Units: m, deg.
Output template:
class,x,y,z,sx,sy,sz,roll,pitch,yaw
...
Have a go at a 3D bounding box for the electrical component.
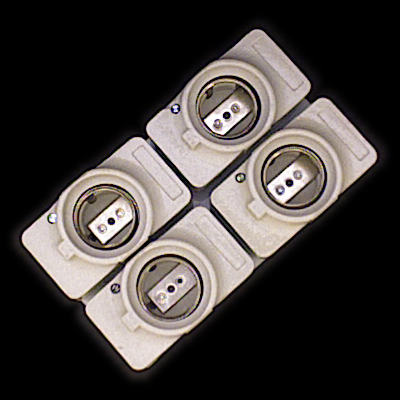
class,x,y,z,sx,sy,sz,roll,pitch,yaw
electrical component,0.000,0.000,0.626,0.186,0.105,0.060,-42,-5,-4
